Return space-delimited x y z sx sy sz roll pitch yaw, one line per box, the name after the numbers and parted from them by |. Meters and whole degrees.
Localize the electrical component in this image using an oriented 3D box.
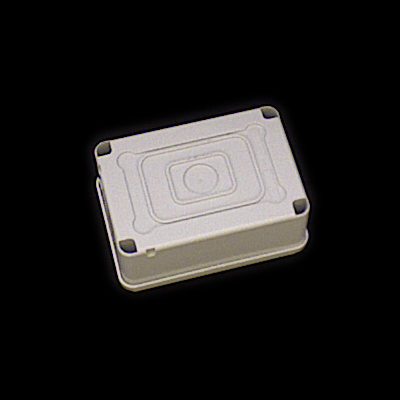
0.000 0.000 0.628 0.113 0.078 0.057 -13 -27 -7 | electrical component
